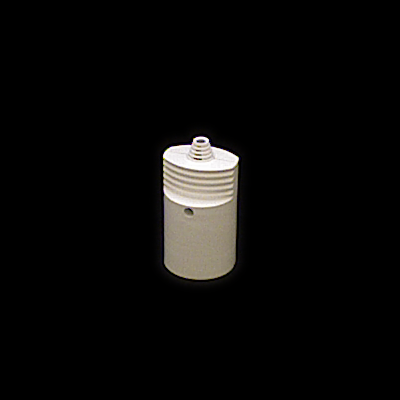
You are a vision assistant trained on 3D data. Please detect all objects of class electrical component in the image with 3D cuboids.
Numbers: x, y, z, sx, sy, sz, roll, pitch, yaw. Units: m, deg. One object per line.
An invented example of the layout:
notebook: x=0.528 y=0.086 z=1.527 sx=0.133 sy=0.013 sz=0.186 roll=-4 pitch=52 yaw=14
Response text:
electrical component: x=0.000 y=0.000 z=0.629 sx=0.043 sy=0.082 sz=0.042 roll=1 pitch=31 yaw=0
